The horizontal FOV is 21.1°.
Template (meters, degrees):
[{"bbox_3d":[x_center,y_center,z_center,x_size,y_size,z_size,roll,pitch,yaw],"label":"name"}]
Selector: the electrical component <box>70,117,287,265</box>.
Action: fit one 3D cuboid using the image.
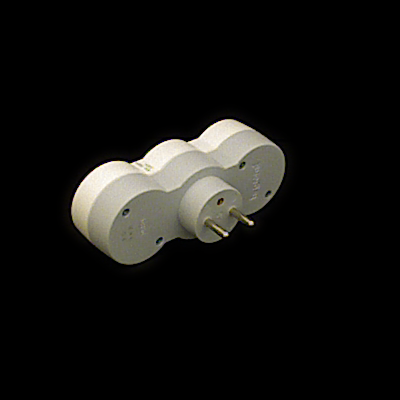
[{"bbox_3d":[0.000,0.000,0.641,0.139,0.053,0.072,-23,41,-33],"label":"electrical component"}]
